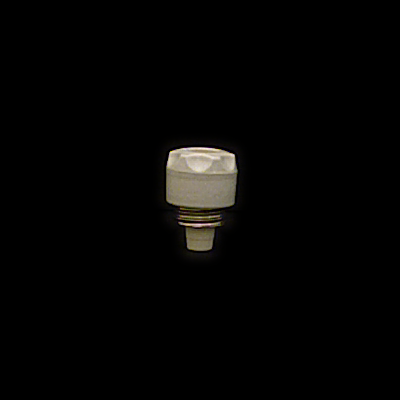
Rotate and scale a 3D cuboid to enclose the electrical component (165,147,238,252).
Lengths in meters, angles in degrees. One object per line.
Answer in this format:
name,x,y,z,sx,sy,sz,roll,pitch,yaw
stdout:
electrical component,0.000,0.000,0.651,0.043,0.062,0.043,2,12,0
